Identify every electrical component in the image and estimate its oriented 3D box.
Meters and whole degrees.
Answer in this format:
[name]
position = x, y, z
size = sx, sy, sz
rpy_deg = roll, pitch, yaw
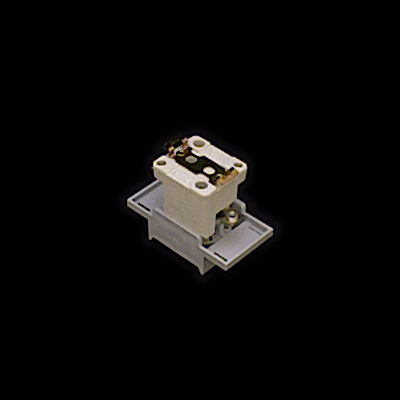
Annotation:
[electrical component]
position = 0.000, 0.000, 0.630
size = 0.080, 0.064, 0.042
rpy_deg = 31, 50, 30
